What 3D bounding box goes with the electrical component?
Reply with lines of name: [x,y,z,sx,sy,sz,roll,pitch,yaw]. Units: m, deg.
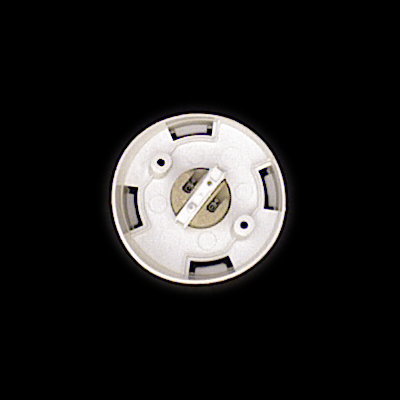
electrical component: [0.000,0.000,0.624,0.099,0.099,0.064,0,-6,0]
